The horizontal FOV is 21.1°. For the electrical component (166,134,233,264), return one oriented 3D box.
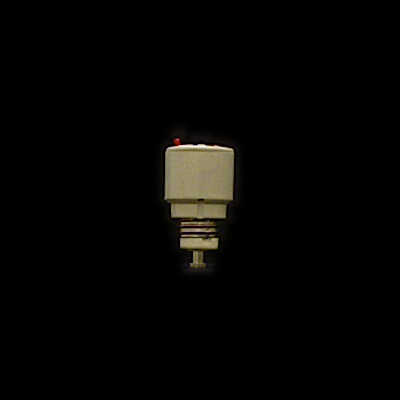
[{"bbox_3d":[0.000,0.000,0.650,0.040,0.078,0.040,1,1,0],"label":"electrical component"}]
